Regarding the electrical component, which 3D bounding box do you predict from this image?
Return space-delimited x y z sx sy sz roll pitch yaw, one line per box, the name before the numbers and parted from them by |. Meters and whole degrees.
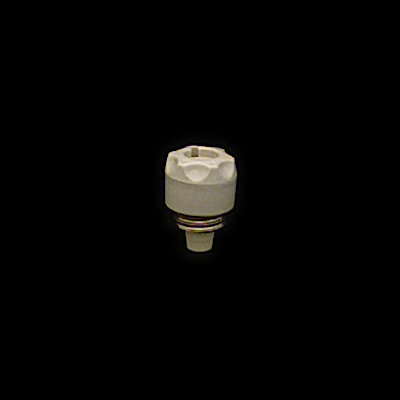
electrical component | 0.000 0.000 0.645 0.043 0.063 0.043 1 23 0
